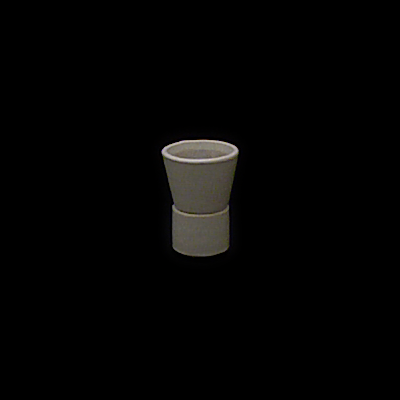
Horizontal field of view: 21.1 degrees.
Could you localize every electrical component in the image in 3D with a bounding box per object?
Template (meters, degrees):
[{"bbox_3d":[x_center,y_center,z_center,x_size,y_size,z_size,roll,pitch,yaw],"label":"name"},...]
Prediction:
[{"bbox_3d":[0.000,0.000,0.638,0.044,0.066,0.044,0,21,0],"label":"electrical component"}]
